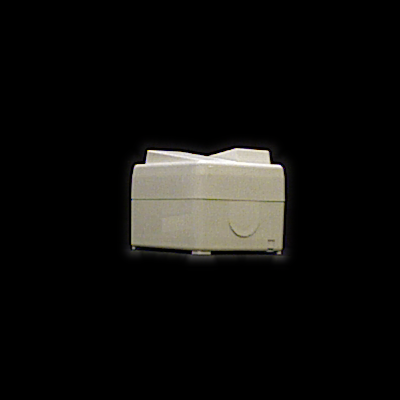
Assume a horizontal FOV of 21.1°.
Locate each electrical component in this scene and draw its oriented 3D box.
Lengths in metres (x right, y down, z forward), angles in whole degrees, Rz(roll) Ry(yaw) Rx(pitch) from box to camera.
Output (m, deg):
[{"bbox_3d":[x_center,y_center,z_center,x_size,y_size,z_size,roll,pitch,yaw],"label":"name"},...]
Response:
[{"bbox_3d":[0.000,0.000,0.652,0.062,0.061,0.096,1,0,-33],"label":"electrical component"}]
